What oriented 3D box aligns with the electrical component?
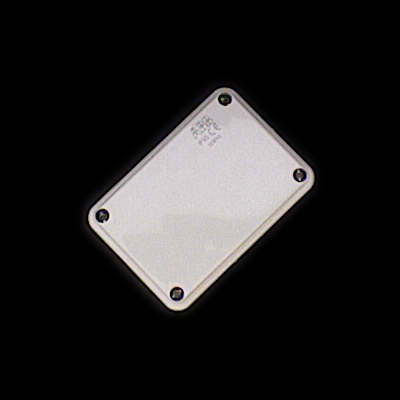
[{"bbox_3d":[0.000,0.000,0.628,0.113,0.078,0.057,-44,-5,-4],"label":"electrical component"}]
